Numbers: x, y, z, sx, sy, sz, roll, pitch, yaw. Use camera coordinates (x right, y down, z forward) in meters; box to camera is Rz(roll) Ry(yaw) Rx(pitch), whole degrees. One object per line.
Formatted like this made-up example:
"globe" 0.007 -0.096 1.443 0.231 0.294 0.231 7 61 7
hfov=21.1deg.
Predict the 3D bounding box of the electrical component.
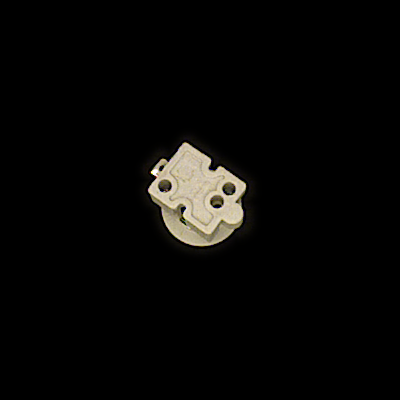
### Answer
"electrical component" 0.000 0.000 0.637 0.066 0.048 0.055 36 -11 10
